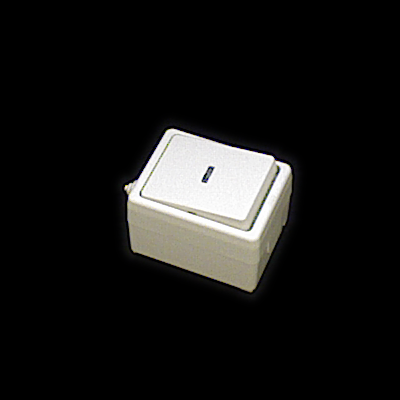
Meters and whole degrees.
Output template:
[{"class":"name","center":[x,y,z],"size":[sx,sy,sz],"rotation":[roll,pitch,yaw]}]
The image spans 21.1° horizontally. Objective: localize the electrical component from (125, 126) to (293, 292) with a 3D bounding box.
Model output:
[{"class":"electrical component","center":[0.000,0.000,0.628],"size":[0.096,0.061,0.061],"rotation":[18,-36,13]}]
